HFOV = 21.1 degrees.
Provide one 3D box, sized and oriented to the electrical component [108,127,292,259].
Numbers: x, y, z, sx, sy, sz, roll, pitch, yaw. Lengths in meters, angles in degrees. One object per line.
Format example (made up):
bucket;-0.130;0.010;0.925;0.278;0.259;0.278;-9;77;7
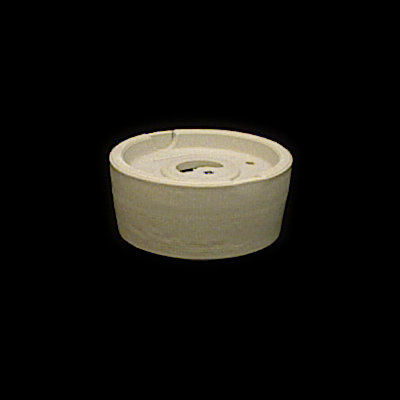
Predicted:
electrical component;0.000;0.000;0.644;0.108;0.061;0.106;1;21;0
